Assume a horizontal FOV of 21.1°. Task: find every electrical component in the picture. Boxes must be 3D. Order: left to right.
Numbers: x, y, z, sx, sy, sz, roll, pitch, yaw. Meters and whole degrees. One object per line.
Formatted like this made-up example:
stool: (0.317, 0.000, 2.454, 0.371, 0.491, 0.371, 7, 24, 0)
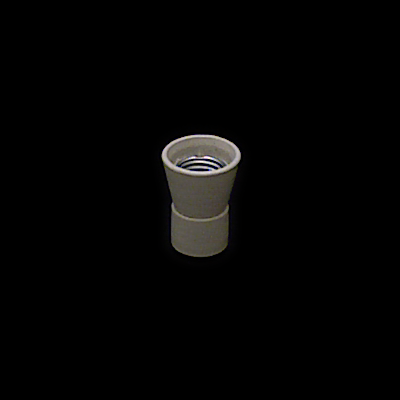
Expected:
electrical component: (0.000, 0.000, 0.631, 0.044, 0.066, 0.044, 1, 32, -1)
